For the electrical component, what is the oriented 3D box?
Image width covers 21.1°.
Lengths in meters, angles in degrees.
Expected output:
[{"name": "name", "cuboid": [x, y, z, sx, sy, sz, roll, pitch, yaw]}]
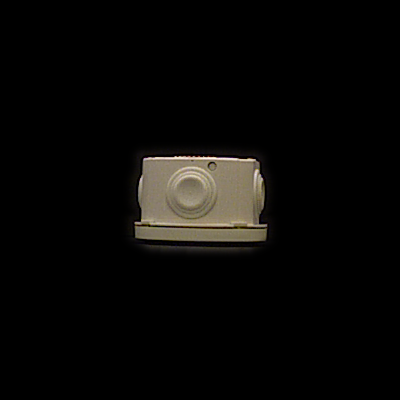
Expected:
[{"name": "electrical component", "cuboid": [0.000, 0.000, 0.649, 0.080, 0.051, 0.080, 1, 1, 0]}]
